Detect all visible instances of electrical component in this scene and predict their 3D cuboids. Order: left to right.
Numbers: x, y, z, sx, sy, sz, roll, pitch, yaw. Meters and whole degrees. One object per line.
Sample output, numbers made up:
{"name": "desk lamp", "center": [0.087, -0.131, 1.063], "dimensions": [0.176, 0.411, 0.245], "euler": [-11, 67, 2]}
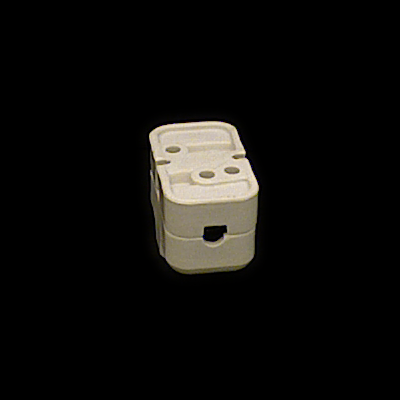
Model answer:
{"name": "electrical component", "center": [0.000, 0.000, 0.643], "dimensions": [0.054, 0.060, 0.093], "euler": [-4, 32, -8]}
